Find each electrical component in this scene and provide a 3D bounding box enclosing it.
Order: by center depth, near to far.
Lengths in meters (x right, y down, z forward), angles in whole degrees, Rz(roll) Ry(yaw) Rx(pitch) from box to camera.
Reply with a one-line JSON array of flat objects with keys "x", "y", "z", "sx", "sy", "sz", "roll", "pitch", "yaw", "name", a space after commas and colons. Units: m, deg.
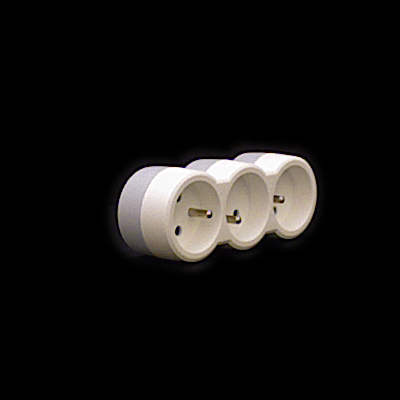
[{"x": 0.000, "y": 0.000, "z": 0.643, "sx": 0.073, "sy": 0.052, "sz": 0.138, "roll": 8, "pitch": 13, "yaw": 41, "name": "electrical component"}]
